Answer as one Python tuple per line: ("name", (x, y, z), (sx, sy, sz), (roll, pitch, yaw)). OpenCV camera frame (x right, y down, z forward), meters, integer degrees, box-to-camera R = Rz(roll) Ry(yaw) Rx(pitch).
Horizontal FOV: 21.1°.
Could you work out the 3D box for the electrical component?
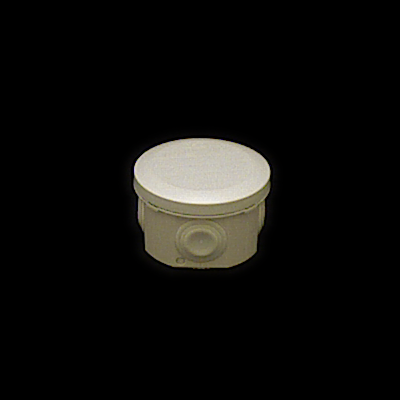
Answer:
("electrical component", (0.000, 0.000, 0.637), (0.080, 0.051, 0.079), (1, 31, 0))
